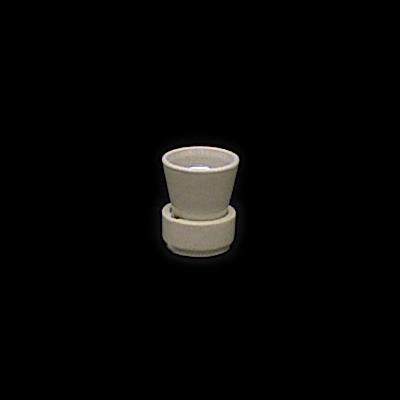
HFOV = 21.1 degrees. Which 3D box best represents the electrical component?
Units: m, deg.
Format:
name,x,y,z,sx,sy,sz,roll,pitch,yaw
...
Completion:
name,x,y,z,sx,sy,sz,roll,pitch,yaw
electrical component,0.000,0.000,0.640,0.045,0.056,0.044,1,22,0
